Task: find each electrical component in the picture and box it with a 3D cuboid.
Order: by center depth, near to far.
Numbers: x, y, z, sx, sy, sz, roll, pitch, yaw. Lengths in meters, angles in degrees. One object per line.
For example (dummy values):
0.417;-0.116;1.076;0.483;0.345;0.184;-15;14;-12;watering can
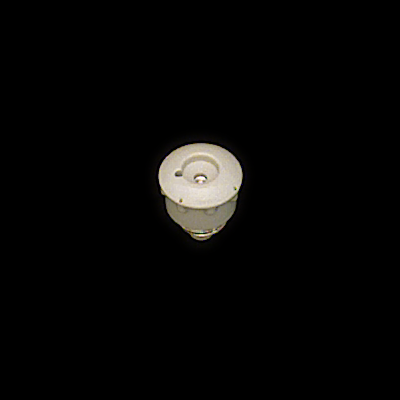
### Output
0.000;0.000;0.633;0.048;0.048;0.062;0;-37;0;electrical component
